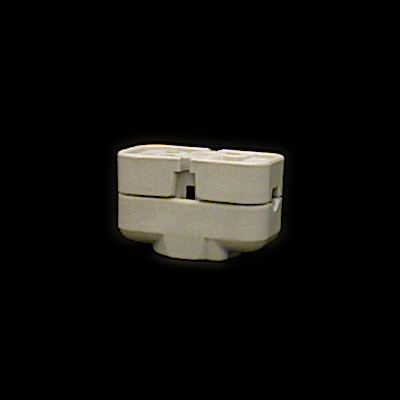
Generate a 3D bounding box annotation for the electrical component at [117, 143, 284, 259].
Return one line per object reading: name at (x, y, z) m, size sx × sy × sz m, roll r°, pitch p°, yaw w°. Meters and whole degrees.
electrical component at (0.000, 0.000, 0.648) m, size 0.094 × 0.060 × 0.053 m, roll 6°, pitch 12°, yaw 19°
